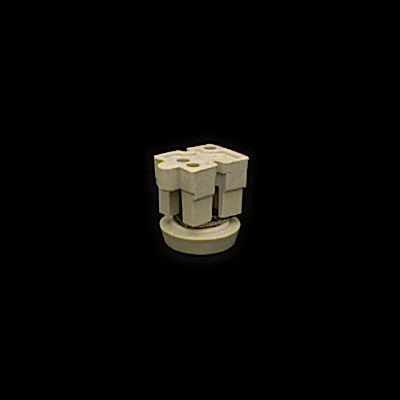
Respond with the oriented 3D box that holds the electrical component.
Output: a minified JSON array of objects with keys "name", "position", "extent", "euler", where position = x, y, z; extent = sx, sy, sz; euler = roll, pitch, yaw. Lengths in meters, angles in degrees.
[{"name":"electrical component","position":[0.000,0.000,0.646],"extent":[0.067,0.056,0.047],"euler":[-16,26,-38]}]
